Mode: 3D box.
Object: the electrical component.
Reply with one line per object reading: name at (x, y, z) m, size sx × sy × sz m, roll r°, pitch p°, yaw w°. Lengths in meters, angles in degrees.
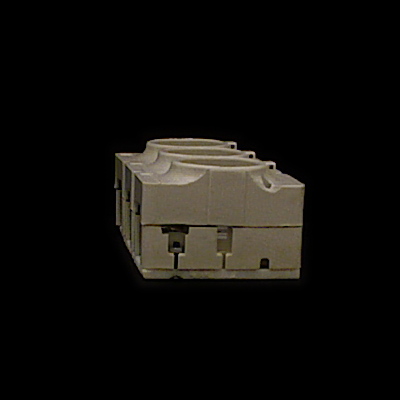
electrical component at (0.000, 0.000, 0.651) m, size 0.089 × 0.062 × 0.148 m, roll 0°, pitch 10°, yaw -10°
